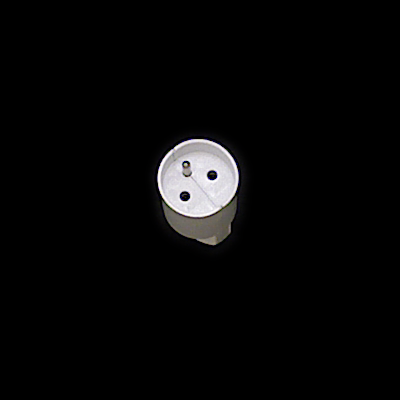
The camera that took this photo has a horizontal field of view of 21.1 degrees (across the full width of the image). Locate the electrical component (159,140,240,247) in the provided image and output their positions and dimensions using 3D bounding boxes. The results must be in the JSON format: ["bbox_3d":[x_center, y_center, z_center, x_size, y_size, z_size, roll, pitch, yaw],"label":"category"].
[{"bbox_3d":[0.000,0.000,0.615,0.043,0.043,0.080,0,-17,0],"label":"electrical component"}]
